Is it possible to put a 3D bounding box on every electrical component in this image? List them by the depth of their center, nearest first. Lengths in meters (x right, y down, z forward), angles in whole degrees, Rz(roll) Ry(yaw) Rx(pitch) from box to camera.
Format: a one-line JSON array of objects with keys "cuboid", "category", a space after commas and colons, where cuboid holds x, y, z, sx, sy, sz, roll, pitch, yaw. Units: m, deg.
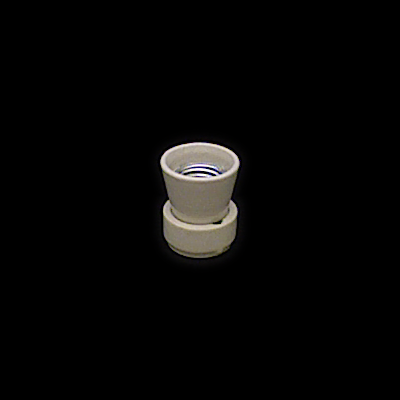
[{"cuboid": [0.000, 0.000, 0.633, 0.045, 0.056, 0.044, 0, 31, 0], "category": "electrical component"}]
